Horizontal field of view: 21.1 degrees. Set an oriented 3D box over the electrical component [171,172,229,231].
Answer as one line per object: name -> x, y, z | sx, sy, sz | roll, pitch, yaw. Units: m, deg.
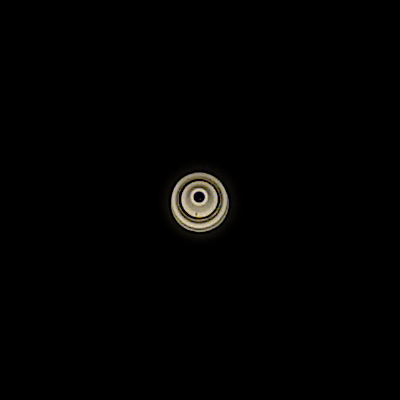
electrical component -> 0.000, 0.000, 0.638 | 0.035, 0.035, 0.061 | 0, -4, 0
